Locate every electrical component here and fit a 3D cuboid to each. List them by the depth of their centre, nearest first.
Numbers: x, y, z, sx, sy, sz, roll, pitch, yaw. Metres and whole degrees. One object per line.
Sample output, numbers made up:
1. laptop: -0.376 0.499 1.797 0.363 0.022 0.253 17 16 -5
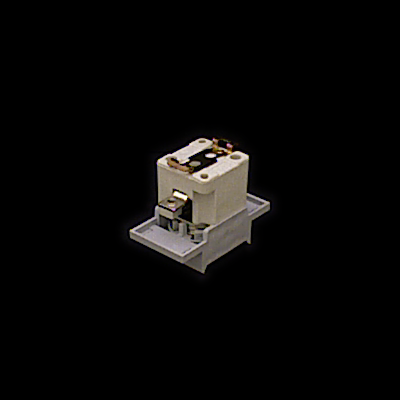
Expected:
1. electrical component: 0.000 0.000 0.634 0.042 0.064 0.080 24 38 33
